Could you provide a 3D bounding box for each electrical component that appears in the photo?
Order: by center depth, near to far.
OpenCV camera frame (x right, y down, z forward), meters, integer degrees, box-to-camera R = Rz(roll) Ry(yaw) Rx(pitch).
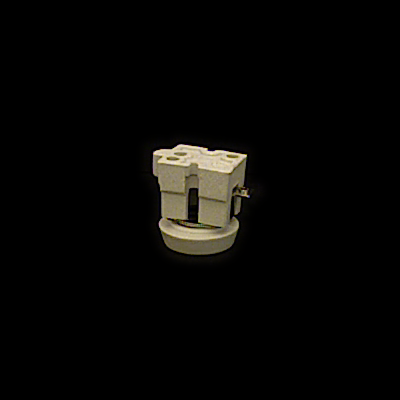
[{"bbox_3d":[0.000,0.000,0.646,0.066,0.056,0.048,9,22,17],"label":"electrical component"}]
